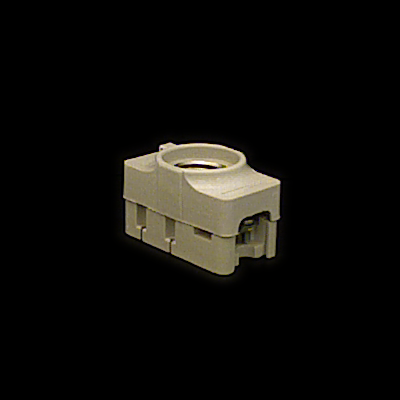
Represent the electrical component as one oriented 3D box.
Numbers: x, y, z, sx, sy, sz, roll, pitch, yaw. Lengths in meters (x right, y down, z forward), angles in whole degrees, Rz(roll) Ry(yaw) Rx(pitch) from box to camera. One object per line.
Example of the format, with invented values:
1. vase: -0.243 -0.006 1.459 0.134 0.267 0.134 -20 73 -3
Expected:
1. electrical component: 0.000 0.000 0.647 0.088 0.056 0.050 21 29 40
